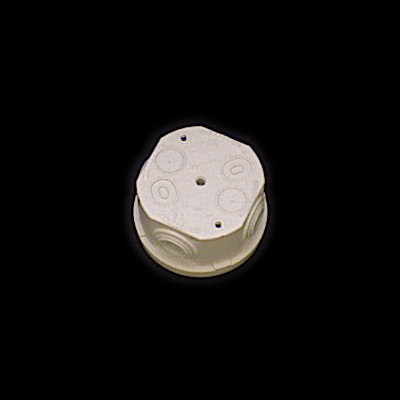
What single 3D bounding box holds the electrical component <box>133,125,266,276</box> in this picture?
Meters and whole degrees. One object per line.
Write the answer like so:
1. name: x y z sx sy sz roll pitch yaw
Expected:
1. electrical component: 0.000 0.000 0.631 0.080 0.080 0.050 0 -27 0
